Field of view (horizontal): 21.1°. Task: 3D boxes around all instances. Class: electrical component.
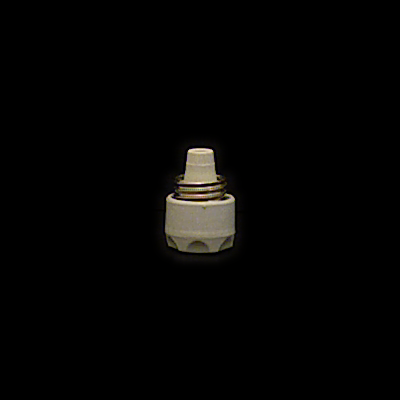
[{"bbox_3d":[0.000,0.000,0.650,0.043,0.062,0.043,0,13,0],"label":"electrical component"}]
